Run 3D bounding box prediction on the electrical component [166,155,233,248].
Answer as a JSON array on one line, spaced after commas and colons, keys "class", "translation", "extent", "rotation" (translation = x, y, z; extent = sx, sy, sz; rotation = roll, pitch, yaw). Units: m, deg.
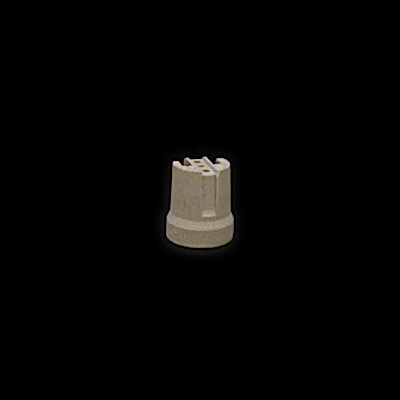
[{"class": "electrical component", "translation": [0.000, 0.000, 0.643], "extent": [0.040, 0.046, 0.040], "rotation": [2, 22, 0]}]
